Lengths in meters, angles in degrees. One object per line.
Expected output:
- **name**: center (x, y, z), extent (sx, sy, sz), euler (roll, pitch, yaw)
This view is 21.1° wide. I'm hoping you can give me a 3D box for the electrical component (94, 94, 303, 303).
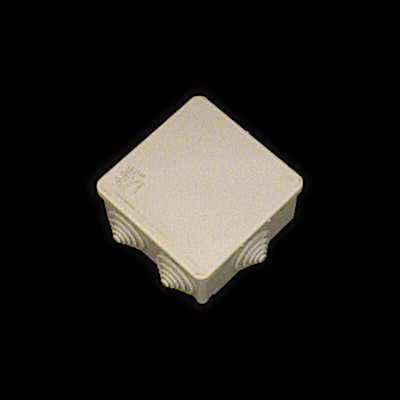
- **electrical component**: center (0.000, 0.000, 0.639), extent (0.099, 0.100, 0.048), euler (41, -20, 18)
